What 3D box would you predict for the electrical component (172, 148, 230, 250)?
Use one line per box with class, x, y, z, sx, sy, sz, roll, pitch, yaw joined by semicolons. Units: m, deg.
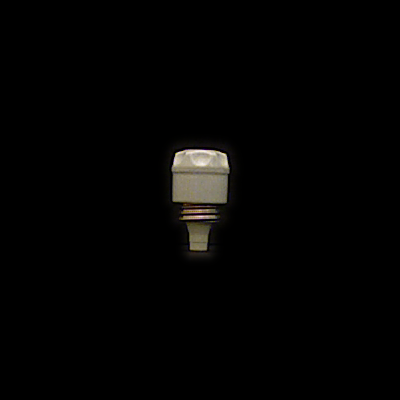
electrical component;0.000;0.000;0.655;0.035;0.061;0.035;1;2;0
